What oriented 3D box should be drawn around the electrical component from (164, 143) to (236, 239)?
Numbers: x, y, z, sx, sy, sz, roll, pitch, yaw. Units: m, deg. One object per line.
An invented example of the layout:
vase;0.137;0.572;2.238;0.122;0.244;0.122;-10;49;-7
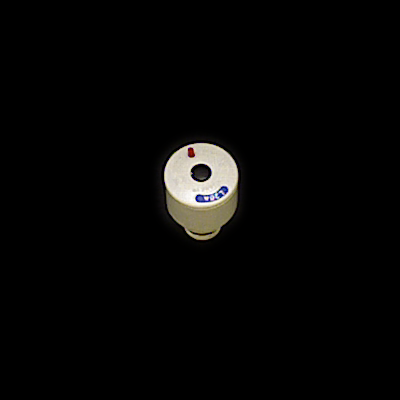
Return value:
electrical component;0.000;0.000;0.619;0.040;0.040;0.078;0;-28;1
